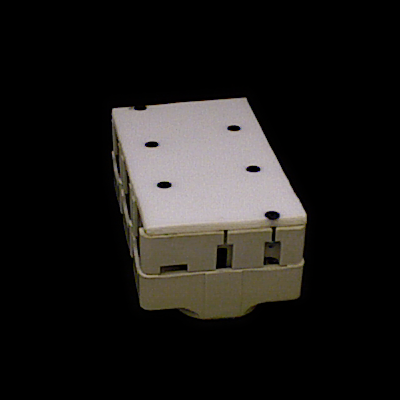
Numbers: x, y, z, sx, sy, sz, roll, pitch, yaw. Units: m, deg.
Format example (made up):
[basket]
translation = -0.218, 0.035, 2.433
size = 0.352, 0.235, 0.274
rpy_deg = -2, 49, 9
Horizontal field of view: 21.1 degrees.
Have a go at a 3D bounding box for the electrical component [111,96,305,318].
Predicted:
[electrical component]
translation = 0.000, 0.000, 0.638
size = 0.089, 0.063, 0.147
rpy_deg = -5, 32, -9
